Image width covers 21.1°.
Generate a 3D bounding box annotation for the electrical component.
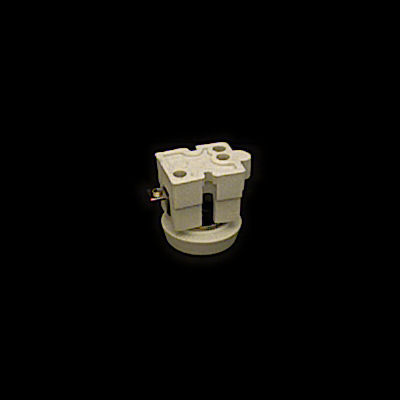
[{"bbox_3d":[0.000,0.000,0.644,0.067,0.056,0.047,-10,35,-15],"label":"electrical component"}]
